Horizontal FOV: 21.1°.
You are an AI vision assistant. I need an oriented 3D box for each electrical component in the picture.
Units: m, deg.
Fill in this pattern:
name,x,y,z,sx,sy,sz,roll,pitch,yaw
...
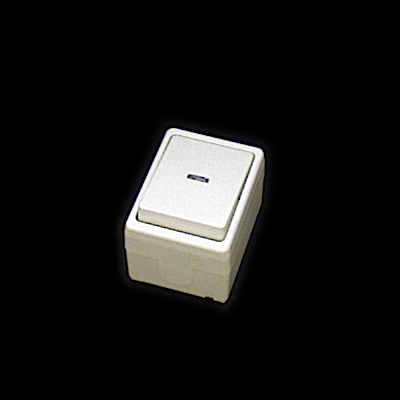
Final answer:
name,x,y,z,sx,sy,sz,roll,pitch,yaw
electrical component,0.000,0.000,0.629,0.061,0.096,0.061,14,-37,10
